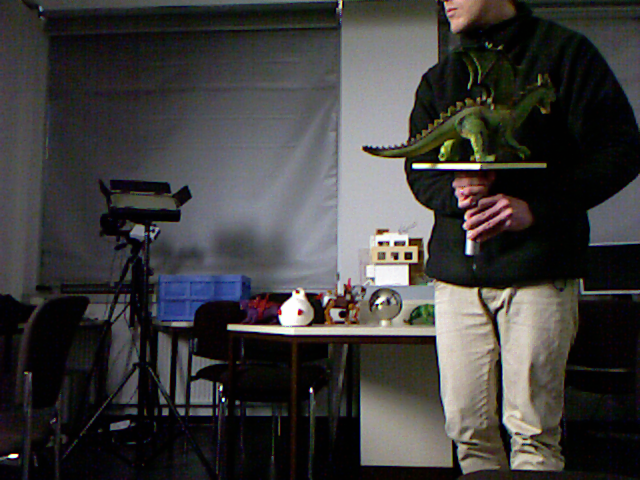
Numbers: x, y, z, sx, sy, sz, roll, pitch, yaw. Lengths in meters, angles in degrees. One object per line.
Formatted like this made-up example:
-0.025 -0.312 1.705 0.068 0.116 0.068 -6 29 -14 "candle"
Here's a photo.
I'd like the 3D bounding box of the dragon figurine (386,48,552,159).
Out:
0.347 -0.297 1.141 0.412 0.241 0.124 -3 15 -17 "dragon figurine"
